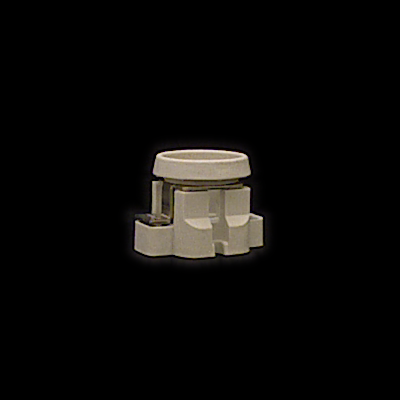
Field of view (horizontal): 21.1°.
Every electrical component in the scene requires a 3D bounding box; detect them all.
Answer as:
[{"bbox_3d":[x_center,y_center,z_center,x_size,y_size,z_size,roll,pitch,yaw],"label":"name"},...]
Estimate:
[{"bbox_3d":[0.000,0.000,0.642,0.079,0.057,0.057,-4,12,-28],"label":"electrical component"}]
